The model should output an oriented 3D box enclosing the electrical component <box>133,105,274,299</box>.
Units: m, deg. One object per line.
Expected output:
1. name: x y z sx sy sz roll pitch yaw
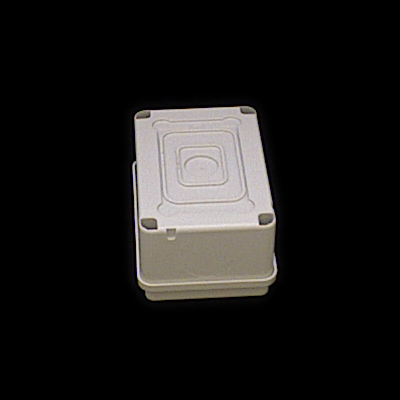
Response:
1. electrical component: 0.000 0.000 0.632 0.078 0.057 0.112 -2 41 -3
